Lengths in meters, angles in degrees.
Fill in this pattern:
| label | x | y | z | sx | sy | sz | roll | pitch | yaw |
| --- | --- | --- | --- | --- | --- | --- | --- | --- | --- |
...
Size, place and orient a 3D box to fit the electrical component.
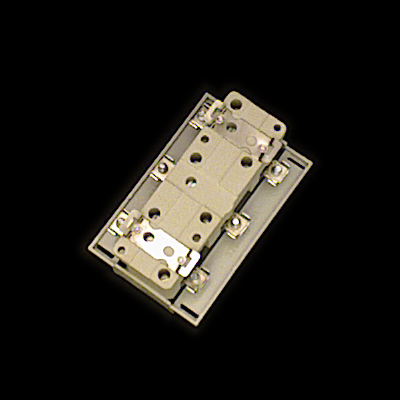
| label | x | y | z | sx | sy | sz | roll | pitch | yaw |
| --- | --- | --- | --- | --- | --- | --- | --- | --- | --- |
| electrical component | 0.000 | 0.000 | 0.633 | 0.078 | 0.122 | 0.062 | 34 | -13 | 9 |
